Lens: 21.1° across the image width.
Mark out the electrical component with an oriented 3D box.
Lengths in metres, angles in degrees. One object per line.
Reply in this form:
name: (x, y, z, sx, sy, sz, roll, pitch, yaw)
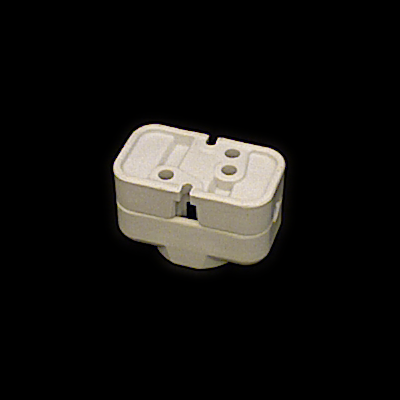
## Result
electrical component: (0.000, 0.000, 0.640, 0.095, 0.060, 0.053, 12, 44, 13)
